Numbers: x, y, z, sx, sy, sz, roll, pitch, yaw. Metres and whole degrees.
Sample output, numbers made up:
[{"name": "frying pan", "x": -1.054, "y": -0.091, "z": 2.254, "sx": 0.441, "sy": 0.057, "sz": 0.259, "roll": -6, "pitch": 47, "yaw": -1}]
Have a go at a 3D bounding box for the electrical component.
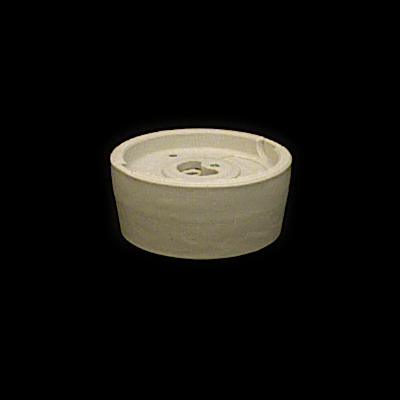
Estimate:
[{"name": "electrical component", "x": 0.000, "y": 0.000, "z": 0.649, "sx": 0.108, "sy": 0.061, "sz": 0.106, "roll": 1, "pitch": 21, "yaw": 0}]
